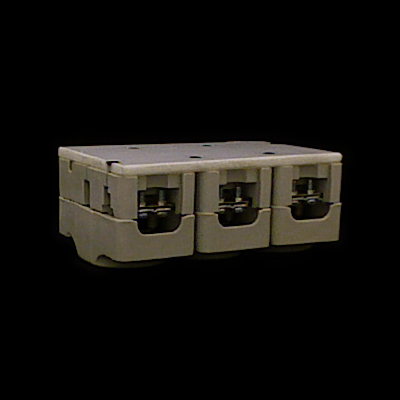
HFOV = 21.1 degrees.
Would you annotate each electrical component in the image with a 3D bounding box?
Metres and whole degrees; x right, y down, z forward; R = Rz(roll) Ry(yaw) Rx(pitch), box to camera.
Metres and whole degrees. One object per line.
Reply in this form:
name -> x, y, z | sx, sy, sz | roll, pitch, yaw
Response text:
electrical component -> 0.000, 0.000, 0.654 | 0.150, 0.062, 0.088 | -4, 12, -30
